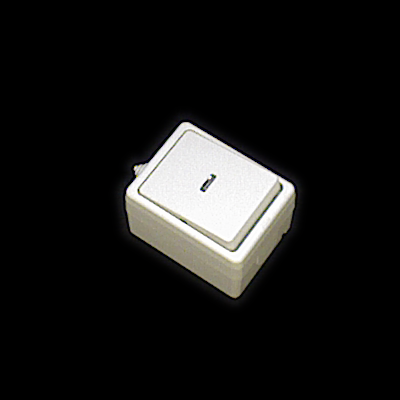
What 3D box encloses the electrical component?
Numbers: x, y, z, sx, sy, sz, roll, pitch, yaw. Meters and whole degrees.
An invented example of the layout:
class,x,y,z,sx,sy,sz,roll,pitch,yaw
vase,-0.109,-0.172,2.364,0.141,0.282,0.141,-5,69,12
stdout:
class,x,y,z,sx,sy,sz,roll,pitch,yaw
electrical component,0.000,0.000,0.627,0.096,0.062,0.061,32,-23,15
